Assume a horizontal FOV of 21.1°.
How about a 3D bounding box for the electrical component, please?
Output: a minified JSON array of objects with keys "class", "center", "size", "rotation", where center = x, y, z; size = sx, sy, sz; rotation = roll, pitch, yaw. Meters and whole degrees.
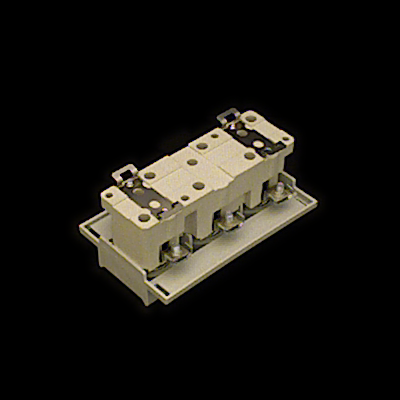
[{"class":"electrical component","center":[0.000,0.000,0.636],"size":[0.121,0.063,0.078],"rotation":[-32,52,-30]}]
